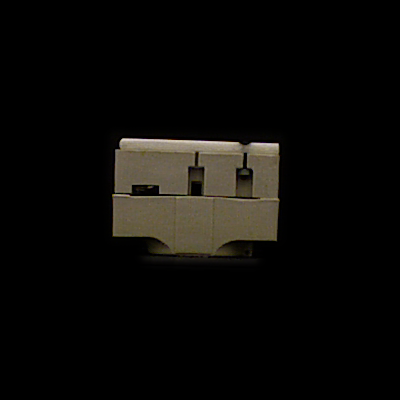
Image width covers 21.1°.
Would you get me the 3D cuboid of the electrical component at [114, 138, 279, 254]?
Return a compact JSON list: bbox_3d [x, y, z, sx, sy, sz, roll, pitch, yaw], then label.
[{"bbox_3d":[0.000,0.000,0.654,0.089,0.062,0.150,1,0,1],"label":"electrical component"}]
